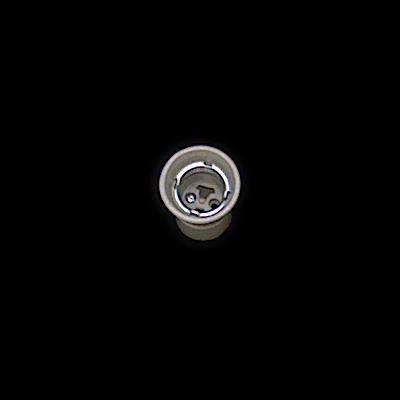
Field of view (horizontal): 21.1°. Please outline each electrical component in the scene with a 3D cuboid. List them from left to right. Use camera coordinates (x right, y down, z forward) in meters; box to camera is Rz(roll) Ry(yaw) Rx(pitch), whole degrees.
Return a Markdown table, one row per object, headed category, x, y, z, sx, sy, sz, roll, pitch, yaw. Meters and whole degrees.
| category | x | y | z | sx | sy | sz | roll | pitch | yaw |
| --- | --- | --- | --- | --- | --- | --- | --- | --- | --- |
| electrical component | 0.000 | 0.000 | 0.624 | 0.044 | 0.044 | 0.065 | 0 | -17 | 2 |
